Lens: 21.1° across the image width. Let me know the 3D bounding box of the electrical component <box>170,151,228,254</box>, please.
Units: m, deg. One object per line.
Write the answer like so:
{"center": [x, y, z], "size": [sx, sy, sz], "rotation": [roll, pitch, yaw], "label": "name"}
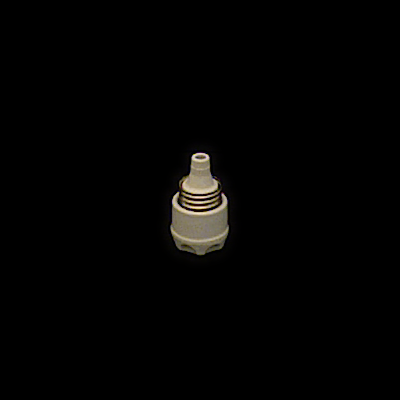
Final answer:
{"center": [0.000, 0.000, 0.646], "size": [0.035, 0.062, 0.034], "rotation": [1, 31, 0], "label": "electrical component"}
